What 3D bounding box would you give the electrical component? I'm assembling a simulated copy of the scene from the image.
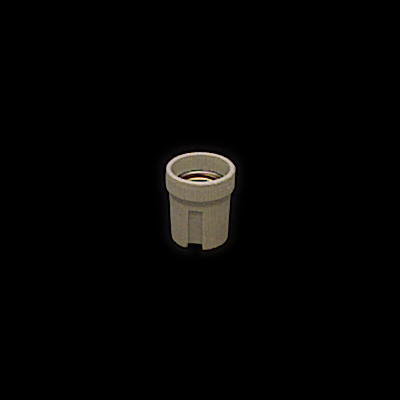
[{"bbox_3d":[0.000,0.000,0.638,0.040,0.047,0.039,1,31,0],"label":"electrical component"}]
